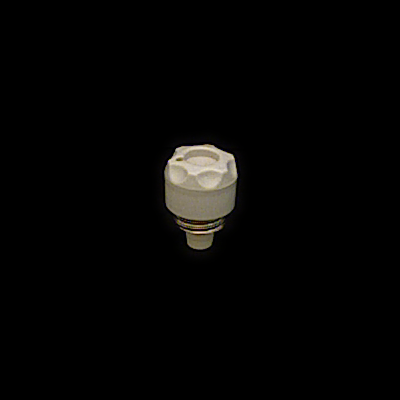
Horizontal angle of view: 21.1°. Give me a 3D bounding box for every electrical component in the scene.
[{"bbox_3d":[0.000,0.000,0.642,0.043,0.063,0.043,1,32,0],"label":"electrical component"}]
